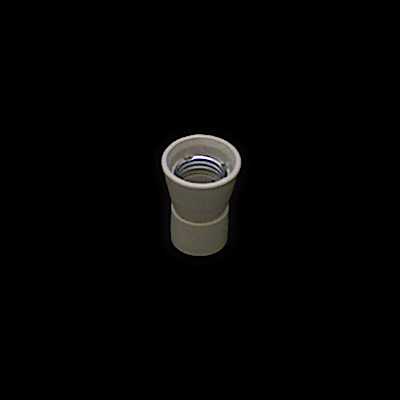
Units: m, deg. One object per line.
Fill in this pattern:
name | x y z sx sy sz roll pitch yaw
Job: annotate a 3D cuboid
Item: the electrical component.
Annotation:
electrical component | 0.000 0.000 0.628 0.044 0.066 0.044 1 43 -1
